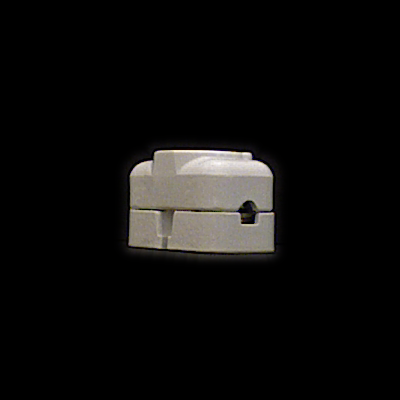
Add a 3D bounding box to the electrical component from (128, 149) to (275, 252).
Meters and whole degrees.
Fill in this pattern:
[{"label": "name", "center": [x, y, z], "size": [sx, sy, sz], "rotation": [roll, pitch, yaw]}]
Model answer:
[{"label": "electrical component", "center": [0.000, 0.000, 0.658], "size": [0.054, 0.059, 0.094], "rotation": [0, 2, -39]}]
